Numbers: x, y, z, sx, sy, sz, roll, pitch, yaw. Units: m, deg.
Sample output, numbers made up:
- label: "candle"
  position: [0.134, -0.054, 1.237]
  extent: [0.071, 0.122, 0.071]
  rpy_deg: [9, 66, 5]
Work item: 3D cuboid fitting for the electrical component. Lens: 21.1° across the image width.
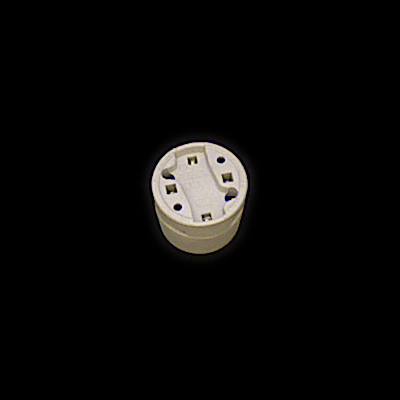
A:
- label: "electrical component"
  position: [0.000, 0.000, 0.634]
  extent: [0.055, 0.056, 0.047]
  rpy_deg: [0, -27, -1]
